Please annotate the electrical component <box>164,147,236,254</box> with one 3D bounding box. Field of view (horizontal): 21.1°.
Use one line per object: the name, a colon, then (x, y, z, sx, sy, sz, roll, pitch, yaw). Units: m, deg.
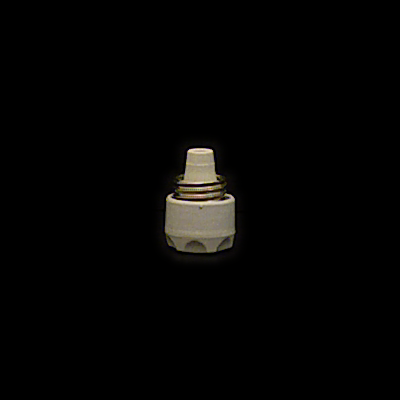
electrical component: (0.000, 0.000, 0.650, 0.043, 0.062, 0.043, 0, 13, 1)
